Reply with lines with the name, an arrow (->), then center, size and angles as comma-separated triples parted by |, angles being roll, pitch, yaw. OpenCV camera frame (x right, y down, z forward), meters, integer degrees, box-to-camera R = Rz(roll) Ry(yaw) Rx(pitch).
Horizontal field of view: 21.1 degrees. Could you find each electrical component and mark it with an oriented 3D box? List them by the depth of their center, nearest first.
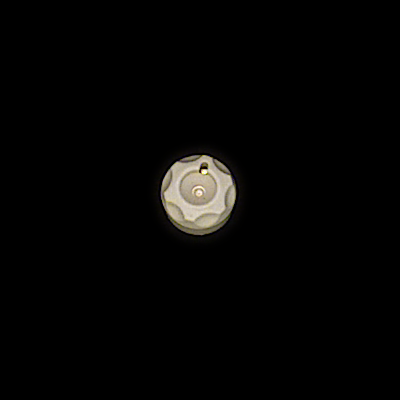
electrical component -> 0.000, 0.000, 0.633 | 0.043, 0.043, 0.061 | 0, -15, 0
